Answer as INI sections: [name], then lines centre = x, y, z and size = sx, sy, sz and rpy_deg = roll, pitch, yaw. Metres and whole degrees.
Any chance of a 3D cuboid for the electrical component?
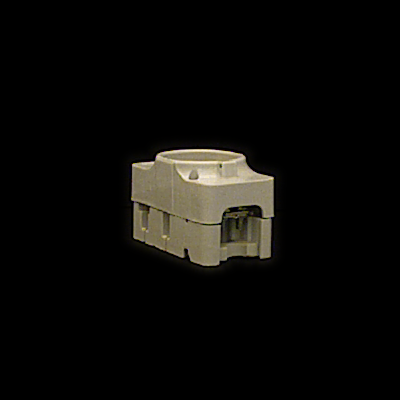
[electrical component]
centre = 0.000, 0.000, 0.651
size = 0.050, 0.056, 0.088
rpy_deg = -7, 13, -33
